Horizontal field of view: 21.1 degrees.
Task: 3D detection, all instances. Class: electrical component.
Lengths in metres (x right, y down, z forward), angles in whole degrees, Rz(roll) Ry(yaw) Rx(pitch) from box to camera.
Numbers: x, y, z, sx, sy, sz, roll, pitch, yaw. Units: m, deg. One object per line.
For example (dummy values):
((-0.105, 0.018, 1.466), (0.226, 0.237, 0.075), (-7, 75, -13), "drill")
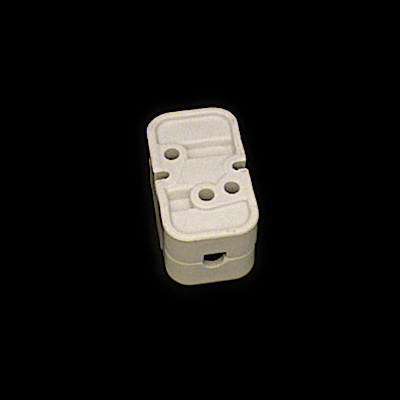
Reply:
((0.000, 0.000, 0.637), (0.054, 0.094, 0.059), (-7, -37, -6), "electrical component")
